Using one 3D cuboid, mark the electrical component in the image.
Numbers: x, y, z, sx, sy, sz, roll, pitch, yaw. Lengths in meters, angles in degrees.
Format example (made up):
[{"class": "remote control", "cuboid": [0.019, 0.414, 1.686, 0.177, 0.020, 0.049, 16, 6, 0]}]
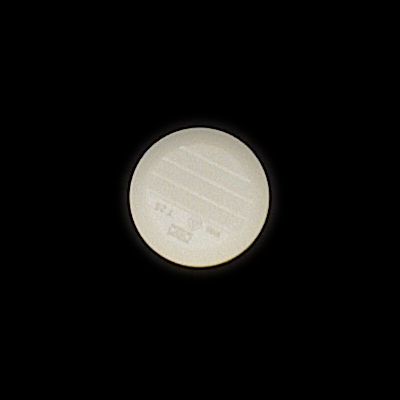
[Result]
[{"class": "electrical component", "cuboid": [0.000, 0.000, 0.631, 0.080, 0.080, 0.050, 0, -7, 0]}]
